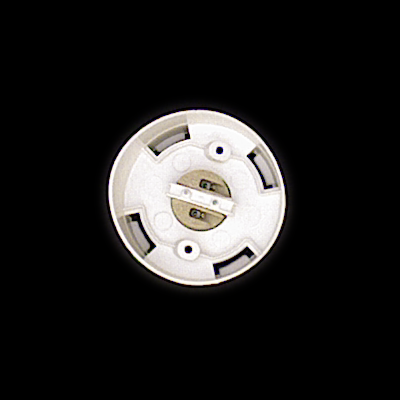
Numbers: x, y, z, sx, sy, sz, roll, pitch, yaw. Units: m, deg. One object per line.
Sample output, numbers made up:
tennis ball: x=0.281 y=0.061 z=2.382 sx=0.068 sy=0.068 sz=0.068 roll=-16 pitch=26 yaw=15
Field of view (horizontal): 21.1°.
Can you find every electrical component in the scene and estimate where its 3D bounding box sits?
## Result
electrical component: x=0.000 y=0.000 z=0.624 sx=0.099 sy=0.099 sz=0.064 roll=0 pitch=-6 yaw=1
